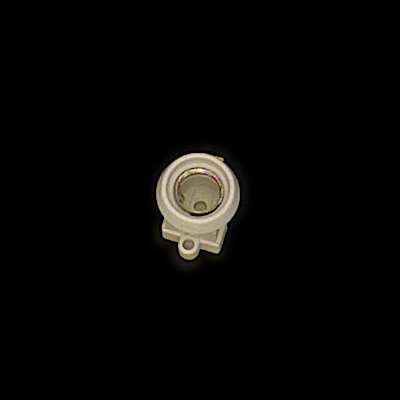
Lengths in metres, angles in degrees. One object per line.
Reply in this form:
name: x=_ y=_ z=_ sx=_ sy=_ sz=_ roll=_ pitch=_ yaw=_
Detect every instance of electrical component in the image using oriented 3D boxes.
electrical component: x=0.000 y=0.000 z=0.637 sx=0.048 sy=0.067 sz=0.055 roll=15 pitch=-16 yaw=3
